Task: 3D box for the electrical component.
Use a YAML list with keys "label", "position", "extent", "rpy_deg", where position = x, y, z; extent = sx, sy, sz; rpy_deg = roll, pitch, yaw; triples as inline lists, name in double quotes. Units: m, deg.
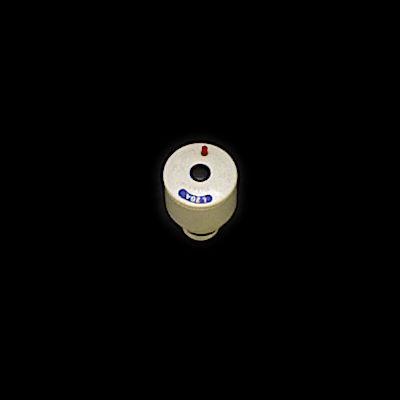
- label: "electrical component"
  position: [0.000, 0.000, 0.619]
  extent: [0.040, 0.040, 0.078]
  rpy_deg: [0, -28, 0]
